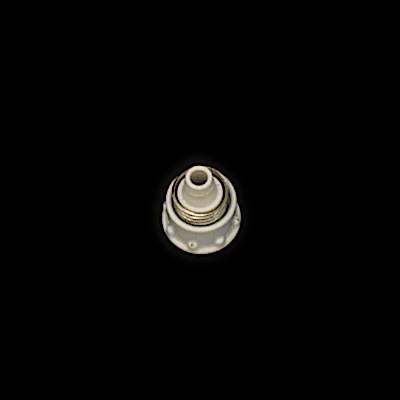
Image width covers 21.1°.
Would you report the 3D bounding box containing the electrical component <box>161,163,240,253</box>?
[{"bbox_3d":[0.000,0.000,0.632,0.048,0.048,0.062,0,-26,2],"label":"electrical component"}]
